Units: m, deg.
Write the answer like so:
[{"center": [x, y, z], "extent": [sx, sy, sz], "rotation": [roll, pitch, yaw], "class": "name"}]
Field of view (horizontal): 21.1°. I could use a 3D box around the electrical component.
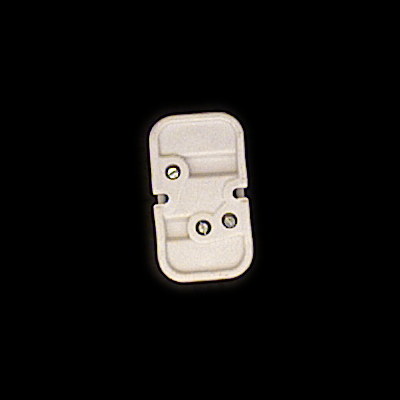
[{"center": [0.000, 0.000, 0.637], "extent": [0.054, 0.095, 0.059], "rotation": [-5, -7, 0], "class": "electrical component"}]
